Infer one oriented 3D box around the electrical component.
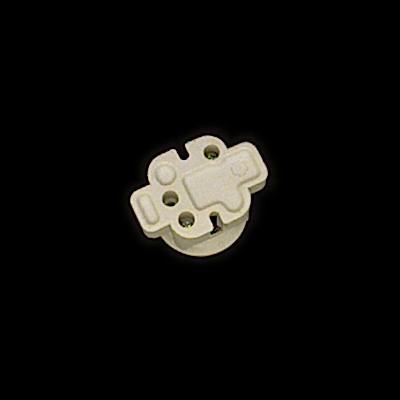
[{"bbox_3d":[0.000,0.000,0.636,0.079,0.058,0.056,-25,-16,-9],"label":"electrical component"}]
